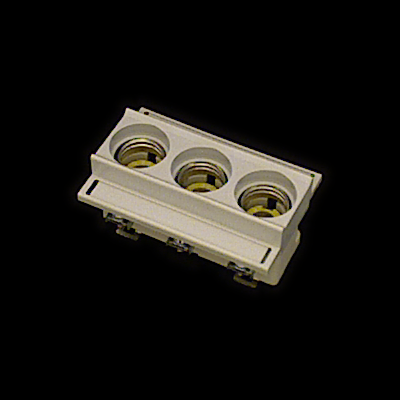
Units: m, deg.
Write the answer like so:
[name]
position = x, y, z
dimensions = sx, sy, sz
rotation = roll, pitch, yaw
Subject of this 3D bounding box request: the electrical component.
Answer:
[electrical component]
position = 0.000, 0.000, 0.640
dimensions = 0.121, 0.078, 0.063
rotation = 22, -35, 16
